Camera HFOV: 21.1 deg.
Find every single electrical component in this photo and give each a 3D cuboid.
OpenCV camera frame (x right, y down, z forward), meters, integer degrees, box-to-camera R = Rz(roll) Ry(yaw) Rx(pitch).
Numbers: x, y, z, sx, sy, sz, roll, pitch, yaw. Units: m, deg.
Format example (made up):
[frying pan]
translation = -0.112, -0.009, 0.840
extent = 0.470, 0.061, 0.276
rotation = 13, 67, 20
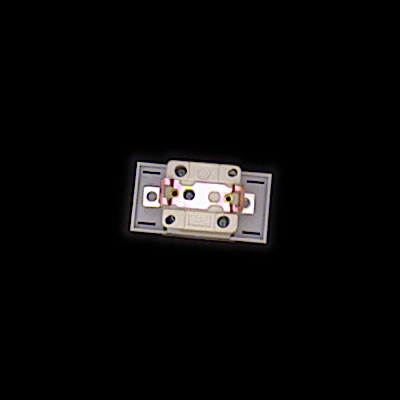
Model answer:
[electrical component]
translation = 0.000, 0.000, 0.626
extent = 0.081, 0.042, 0.063
rotation = 5, -6, 1
